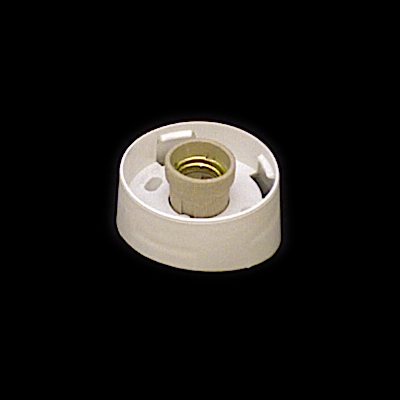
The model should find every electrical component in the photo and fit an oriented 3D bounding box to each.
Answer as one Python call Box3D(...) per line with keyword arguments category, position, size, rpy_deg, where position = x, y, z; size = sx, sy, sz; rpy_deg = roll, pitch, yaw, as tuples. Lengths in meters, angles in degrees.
Box3D(category="electrical component", position=(0.000, 0.000, 0.629), size=(0.099, 0.064, 0.098), rpy_deg=(1, 41, 0))
